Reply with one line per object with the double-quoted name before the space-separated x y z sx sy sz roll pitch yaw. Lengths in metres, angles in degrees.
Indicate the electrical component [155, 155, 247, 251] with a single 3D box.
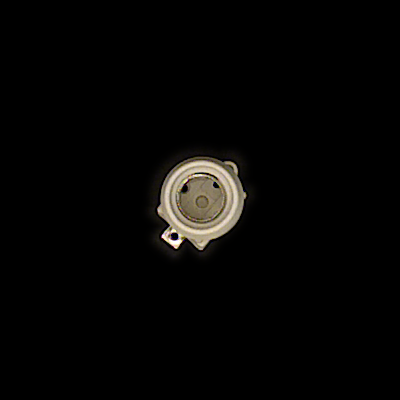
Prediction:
"electrical component" 0.000 0.000 0.638 0.048 0.066 0.055 38 -4 6
